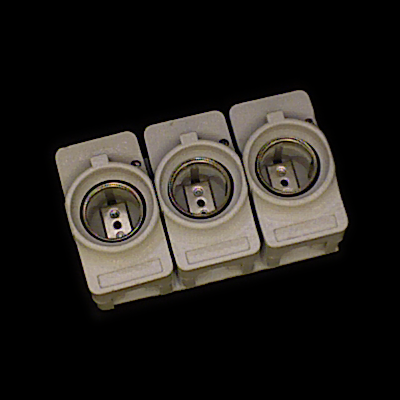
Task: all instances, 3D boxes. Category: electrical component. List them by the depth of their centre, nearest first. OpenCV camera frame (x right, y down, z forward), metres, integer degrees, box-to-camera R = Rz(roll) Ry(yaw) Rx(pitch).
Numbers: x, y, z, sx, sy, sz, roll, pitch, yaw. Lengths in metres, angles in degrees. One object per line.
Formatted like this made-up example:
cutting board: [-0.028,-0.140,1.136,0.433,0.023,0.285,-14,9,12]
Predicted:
electrical component: [0.000,0.000,0.632,0.150,0.089,0.062,-14,-17,-5]
